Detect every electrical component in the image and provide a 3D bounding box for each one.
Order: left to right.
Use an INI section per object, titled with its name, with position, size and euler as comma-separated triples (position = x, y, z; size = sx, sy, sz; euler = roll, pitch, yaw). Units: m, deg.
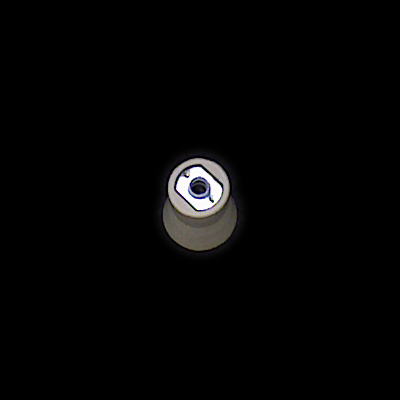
[electrical component]
position = 0.000, 0.000, 0.624
size = 0.044, 0.044, 0.065
euler = 0, -16, 1
